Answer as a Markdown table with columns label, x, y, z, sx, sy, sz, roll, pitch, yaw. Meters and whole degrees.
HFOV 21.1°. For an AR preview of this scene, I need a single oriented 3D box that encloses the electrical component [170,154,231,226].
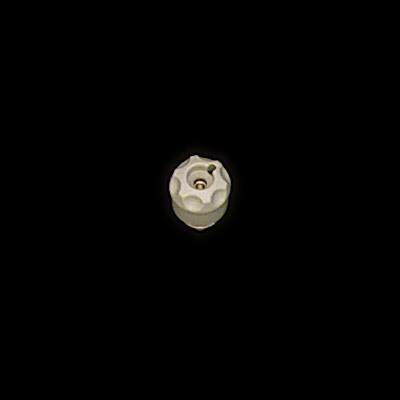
| label | x | y | z | sx | sy | sz | roll | pitch | yaw |
| --- | --- | --- | --- | --- | --- | --- | --- | --- | --- |
| electrical component | 0.000 | 0.000 | 0.634 | 0.035 | 0.035 | 0.061 | 0 | -27 | 0 |
